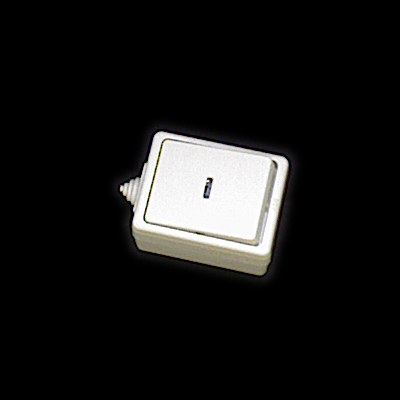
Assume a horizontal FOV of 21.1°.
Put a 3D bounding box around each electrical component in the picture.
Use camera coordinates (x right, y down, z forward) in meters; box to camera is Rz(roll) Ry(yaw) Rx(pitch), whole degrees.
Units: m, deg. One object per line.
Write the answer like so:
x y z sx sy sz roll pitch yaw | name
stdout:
0.000 0.000 0.626 0.096 0.062 0.060 12 -17 4 | electrical component
